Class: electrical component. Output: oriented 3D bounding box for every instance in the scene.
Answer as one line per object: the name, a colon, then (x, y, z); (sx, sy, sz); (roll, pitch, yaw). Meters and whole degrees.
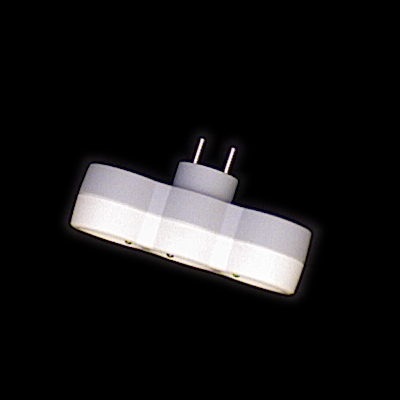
electrical component: (0.000, 0.000, 0.632); (0.138, 0.074, 0.052); (17, -8, 3)
